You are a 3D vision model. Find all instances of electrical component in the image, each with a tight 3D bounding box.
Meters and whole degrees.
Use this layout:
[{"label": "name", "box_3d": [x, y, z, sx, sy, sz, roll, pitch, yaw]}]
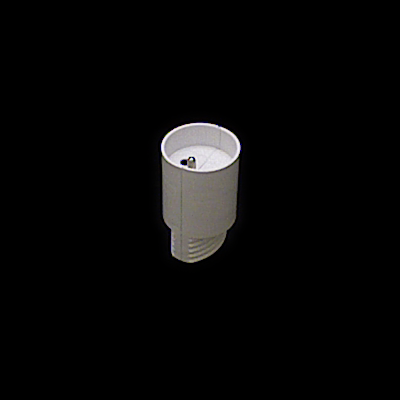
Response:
[{"label": "electrical component", "box_3d": [0.000, 0.000, 0.621, 0.043, 0.082, 0.042, 0, 42, 0]}]
